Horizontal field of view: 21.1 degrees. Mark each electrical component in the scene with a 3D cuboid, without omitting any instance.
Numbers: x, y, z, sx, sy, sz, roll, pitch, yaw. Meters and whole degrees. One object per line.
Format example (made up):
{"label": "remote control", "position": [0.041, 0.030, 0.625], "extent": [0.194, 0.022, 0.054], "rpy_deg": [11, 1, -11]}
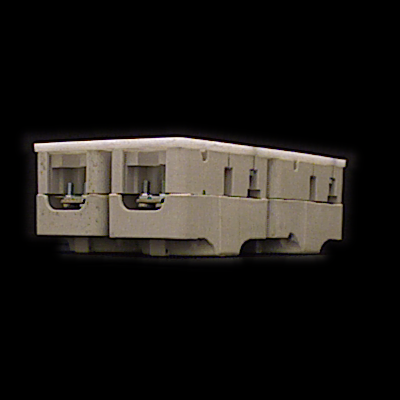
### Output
{"label": "electrical component", "position": [0.000, 0.000, 0.650], "extent": [0.105, 0.060, 0.187], "rpy_deg": [1, -1, 35]}
